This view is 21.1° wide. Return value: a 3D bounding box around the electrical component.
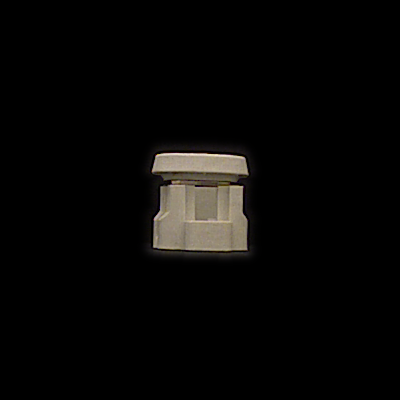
[{"bbox_3d":[0.000,0.000,0.651,0.058,0.057,0.078,1,0,-10],"label":"electrical component"}]
